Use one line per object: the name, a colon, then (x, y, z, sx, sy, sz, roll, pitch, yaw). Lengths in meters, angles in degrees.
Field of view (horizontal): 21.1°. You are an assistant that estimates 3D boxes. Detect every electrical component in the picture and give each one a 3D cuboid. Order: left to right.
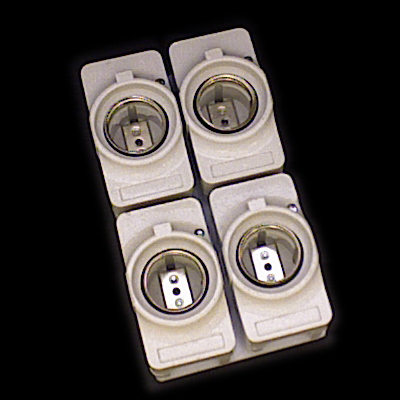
electrical component: (0.000, 0.000, 0.625, 0.106, 0.187, 0.060, -14, -17, -4)
